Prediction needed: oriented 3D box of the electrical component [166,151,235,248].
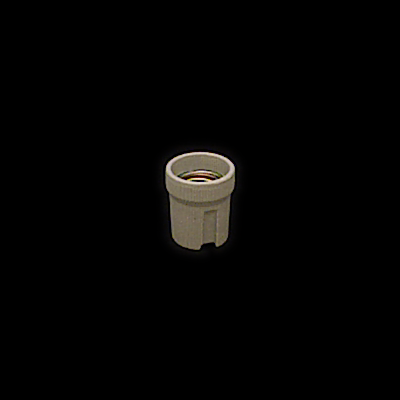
[{"bbox_3d":[0.000,0.000,0.638,0.040,0.047,0.039,1,31,0],"label":"electrical component"}]
